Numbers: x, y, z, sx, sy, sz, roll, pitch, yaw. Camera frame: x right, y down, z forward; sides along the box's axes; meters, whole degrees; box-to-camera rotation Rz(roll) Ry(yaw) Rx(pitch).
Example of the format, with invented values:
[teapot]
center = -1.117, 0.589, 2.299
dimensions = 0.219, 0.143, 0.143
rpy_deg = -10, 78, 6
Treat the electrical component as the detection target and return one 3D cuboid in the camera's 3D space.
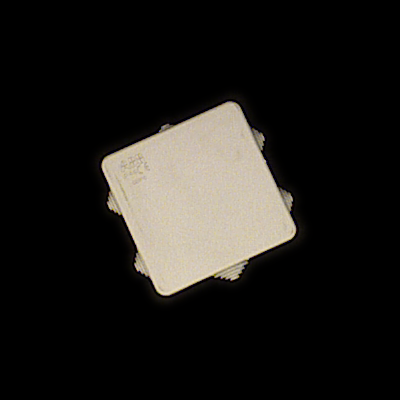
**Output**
[electrical component]
center = 0.000, 0.000, 0.642
dimensions = 0.100, 0.100, 0.048
rpy_deg = -24, -6, -3
